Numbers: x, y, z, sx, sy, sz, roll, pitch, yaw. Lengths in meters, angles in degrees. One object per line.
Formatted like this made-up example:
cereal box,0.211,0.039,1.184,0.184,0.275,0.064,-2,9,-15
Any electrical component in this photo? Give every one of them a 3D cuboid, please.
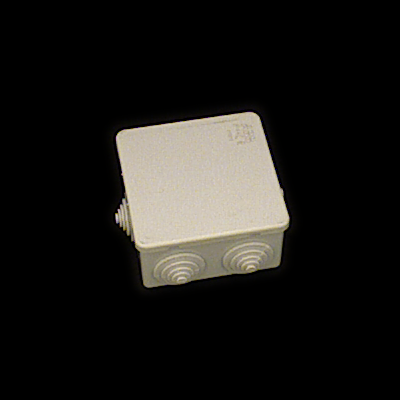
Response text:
electrical component,0.000,0.000,0.641,0.100,0.099,0.049,-8,-36,-7
